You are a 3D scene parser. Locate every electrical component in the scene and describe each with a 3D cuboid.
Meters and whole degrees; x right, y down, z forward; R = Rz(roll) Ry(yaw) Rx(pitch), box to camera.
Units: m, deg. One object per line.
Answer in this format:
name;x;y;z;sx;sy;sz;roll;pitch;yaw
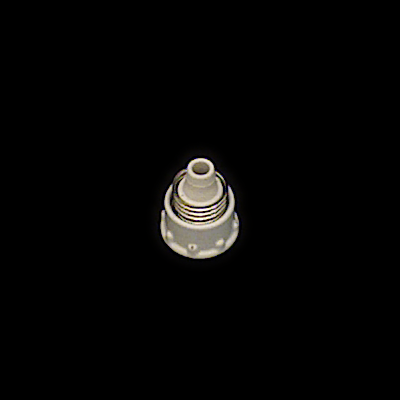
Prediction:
electrical component;0.000;0.000;0.636;0.048;0.048;0.062;0;-38;-2
